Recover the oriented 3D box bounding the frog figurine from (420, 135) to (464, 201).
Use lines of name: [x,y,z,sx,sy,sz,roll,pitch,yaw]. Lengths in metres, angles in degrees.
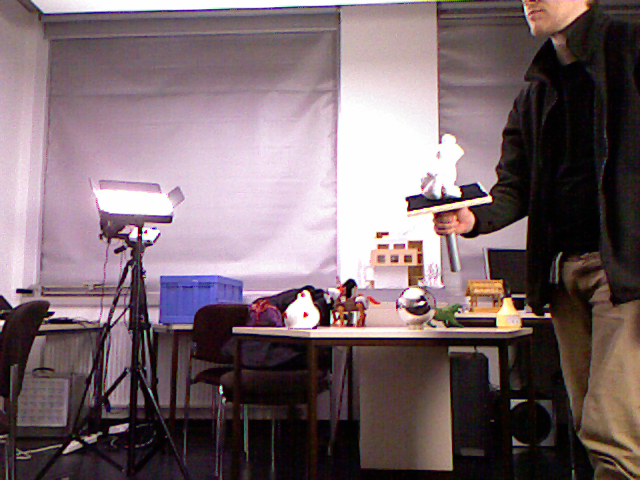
frog figurine: [0.313,-0.188,1.336,0.122,0.157,0.140,-2,21,34]
